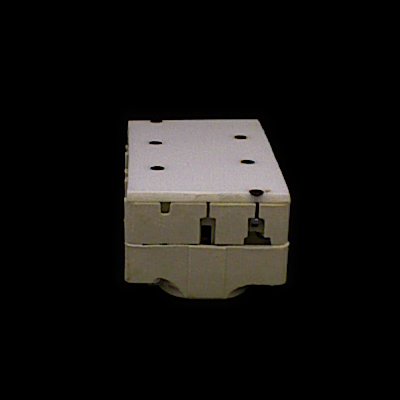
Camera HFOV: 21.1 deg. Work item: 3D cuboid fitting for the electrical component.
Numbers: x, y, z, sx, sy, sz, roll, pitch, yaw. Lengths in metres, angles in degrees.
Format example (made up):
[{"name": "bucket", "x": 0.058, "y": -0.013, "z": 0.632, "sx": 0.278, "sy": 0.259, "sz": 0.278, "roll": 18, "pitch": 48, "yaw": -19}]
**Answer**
[{"name": "electrical component", "x": 0.000, "y": 0.000, "z": 0.647, "sx": 0.090, "sy": 0.063, "sz": 0.147, "roll": 0, "pitch": 20, "yaw": -3}]
